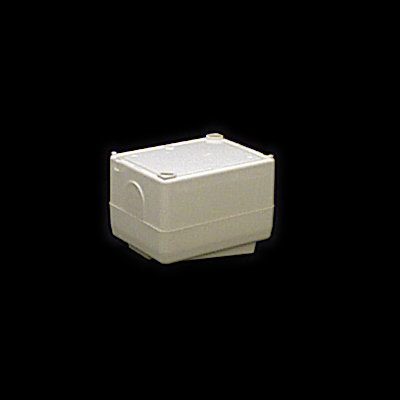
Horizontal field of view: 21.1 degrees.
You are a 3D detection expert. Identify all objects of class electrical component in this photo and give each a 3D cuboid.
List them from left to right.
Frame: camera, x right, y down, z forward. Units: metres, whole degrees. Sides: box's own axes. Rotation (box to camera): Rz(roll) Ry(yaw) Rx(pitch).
[{"bbox_3d":[0.000,0.000,0.645,0.096,0.062,0.061,-13,24,-33],"label":"electrical component"}]
